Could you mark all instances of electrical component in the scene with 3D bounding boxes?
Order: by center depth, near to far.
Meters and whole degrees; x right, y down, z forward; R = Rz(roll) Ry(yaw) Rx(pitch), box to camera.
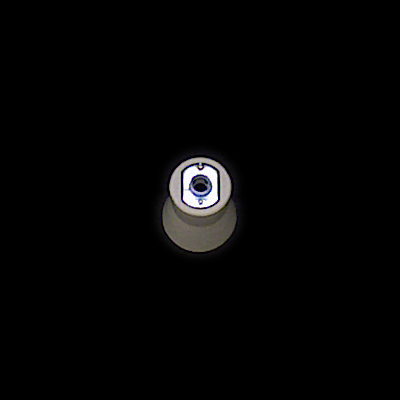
[{"bbox_3d":[0.000,0.000,0.624,0.044,0.044,0.065,0,-17,-1],"label":"electrical component"}]
